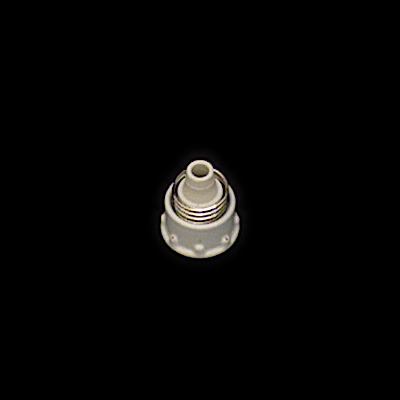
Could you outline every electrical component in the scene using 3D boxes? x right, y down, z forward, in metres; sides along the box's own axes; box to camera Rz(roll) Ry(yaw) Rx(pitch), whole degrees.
[{"bbox_3d":[0.000,0.000,0.634,0.048,0.048,0.062,0,-36,0],"label":"electrical component"}]
